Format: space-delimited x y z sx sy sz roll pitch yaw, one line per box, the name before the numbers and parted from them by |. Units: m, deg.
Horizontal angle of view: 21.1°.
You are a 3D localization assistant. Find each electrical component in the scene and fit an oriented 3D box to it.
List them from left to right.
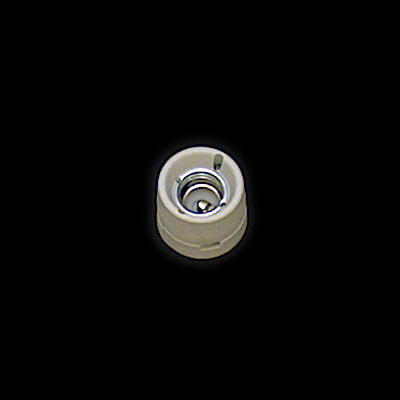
electrical component | 0.000 0.000 0.632 0.055 0.056 0.047 0 -27 1
